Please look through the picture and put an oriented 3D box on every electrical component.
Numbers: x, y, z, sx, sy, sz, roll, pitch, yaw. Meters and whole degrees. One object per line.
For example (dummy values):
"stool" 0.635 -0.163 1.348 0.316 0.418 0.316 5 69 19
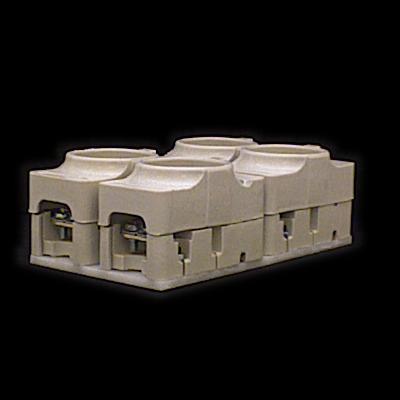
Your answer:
"electrical component" 0.000 0.000 0.645 0.105 0.060 0.186 10 13 40
